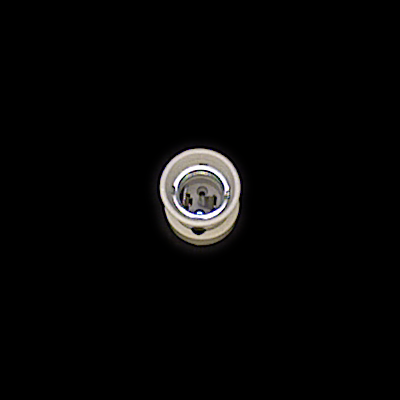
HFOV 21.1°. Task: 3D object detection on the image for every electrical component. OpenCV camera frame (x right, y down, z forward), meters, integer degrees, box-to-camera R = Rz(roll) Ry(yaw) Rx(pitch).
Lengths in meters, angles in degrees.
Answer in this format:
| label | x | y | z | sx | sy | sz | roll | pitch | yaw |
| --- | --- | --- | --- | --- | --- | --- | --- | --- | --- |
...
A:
| label | x | y | z | sx | sy | sz | roll | pitch | yaw |
| --- | --- | --- | --- | --- | --- | --- | --- | --- | --- |
| electrical component | 0.000 | 0.000 | 0.627 | 0.045 | 0.045 | 0.055 | 0 | -17 | 1 |
